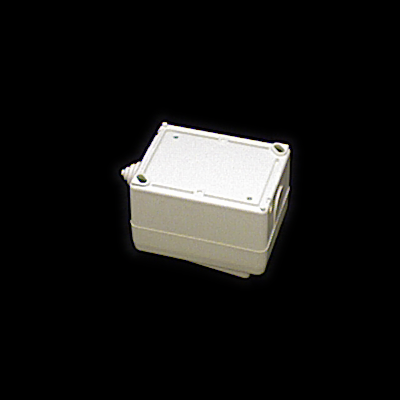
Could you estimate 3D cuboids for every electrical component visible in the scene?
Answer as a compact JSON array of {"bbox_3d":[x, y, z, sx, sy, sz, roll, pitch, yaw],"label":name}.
[{"bbox_3d":[0.000,0.000,0.631,0.096,0.061,0.061,11,43,11],"label":"electrical component"}]
